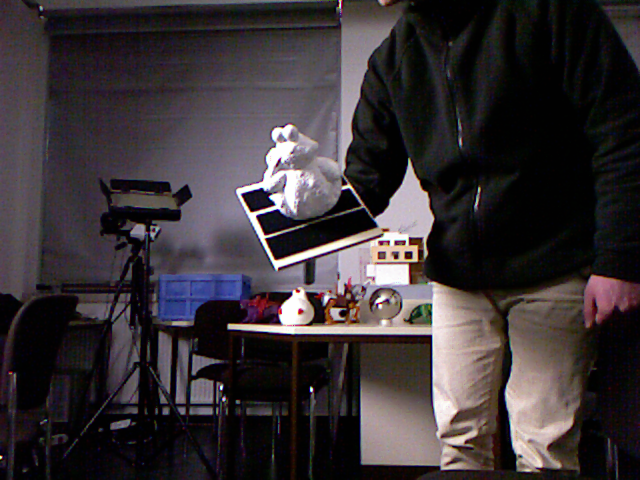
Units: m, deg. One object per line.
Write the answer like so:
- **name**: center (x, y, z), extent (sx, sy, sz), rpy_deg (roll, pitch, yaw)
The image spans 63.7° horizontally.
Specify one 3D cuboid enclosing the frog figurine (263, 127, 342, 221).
- **frog figurine**: center (-0.029, -0.114, 0.881), extent (0.138, 0.126, 0.156), rpy_deg (-2, -38, -3)
